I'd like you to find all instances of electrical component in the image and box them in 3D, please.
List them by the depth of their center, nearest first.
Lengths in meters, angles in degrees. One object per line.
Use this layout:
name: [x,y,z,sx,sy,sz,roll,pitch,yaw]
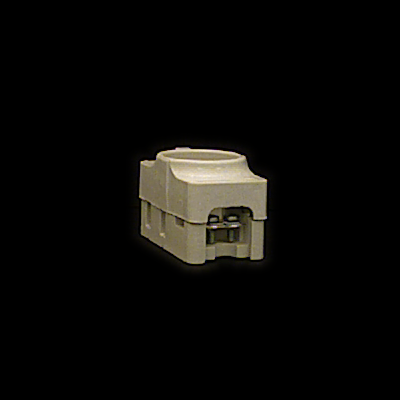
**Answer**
electrical component: [0.000,0.000,0.652,0.050,0.056,0.088,-4,12,-23]
